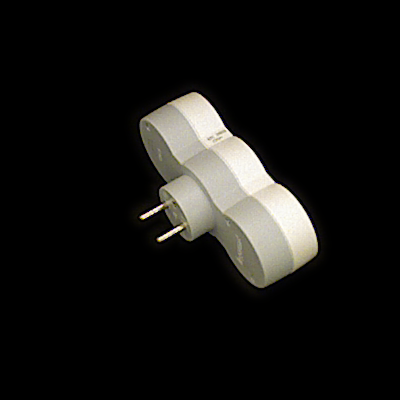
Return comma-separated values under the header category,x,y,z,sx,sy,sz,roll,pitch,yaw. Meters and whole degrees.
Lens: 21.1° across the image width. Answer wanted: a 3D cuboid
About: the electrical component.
category,x,y,z,sx,sy,sz,roll,pitch,yaw
electrical component,0.000,0.000,0.638,0.074,0.137,0.052,-29,-31,-18
